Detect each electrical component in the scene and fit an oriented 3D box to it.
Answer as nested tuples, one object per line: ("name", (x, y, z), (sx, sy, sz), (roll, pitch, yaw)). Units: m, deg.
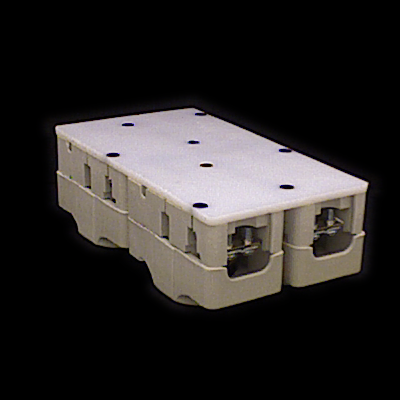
("electrical component", (0.000, 0.000, 0.638), (0.105, 0.061, 0.184), (-12, 24, -31))
